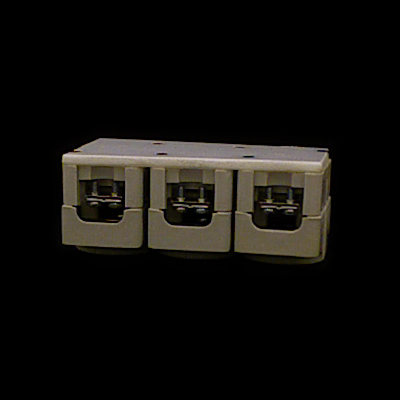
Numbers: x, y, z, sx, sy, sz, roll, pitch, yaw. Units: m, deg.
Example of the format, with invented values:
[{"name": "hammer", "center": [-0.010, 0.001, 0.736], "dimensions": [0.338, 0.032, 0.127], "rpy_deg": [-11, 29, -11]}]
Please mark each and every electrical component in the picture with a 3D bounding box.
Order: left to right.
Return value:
[{"name": "electrical component", "center": [0.000, 0.000, 0.652], "dimensions": [0.150, 0.062, 0.088], "rpy_deg": [3, 11, 9]}]
